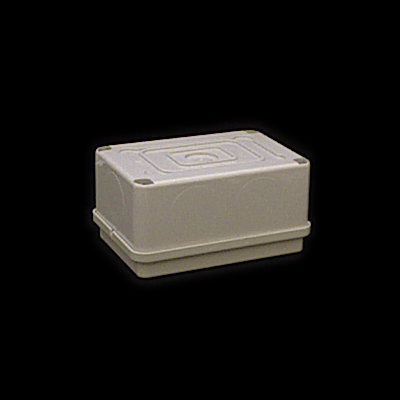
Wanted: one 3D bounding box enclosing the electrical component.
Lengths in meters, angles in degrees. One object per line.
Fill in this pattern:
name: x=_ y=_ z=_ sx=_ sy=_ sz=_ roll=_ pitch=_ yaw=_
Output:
electrical component: x=0.000 y=0.000 z=0.639 sx=0.113 sy=0.058 sz=0.077 roll=-9 pitch=23 yaw=-23
